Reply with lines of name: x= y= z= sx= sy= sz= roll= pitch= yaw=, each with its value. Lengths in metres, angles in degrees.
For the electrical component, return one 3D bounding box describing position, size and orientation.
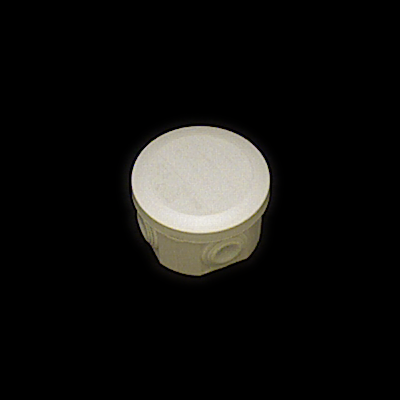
electrical component: x=0.000 y=0.000 z=0.632 sx=0.080 sy=0.080 sz=0.051 roll=0 pitch=-38 yaw=0
